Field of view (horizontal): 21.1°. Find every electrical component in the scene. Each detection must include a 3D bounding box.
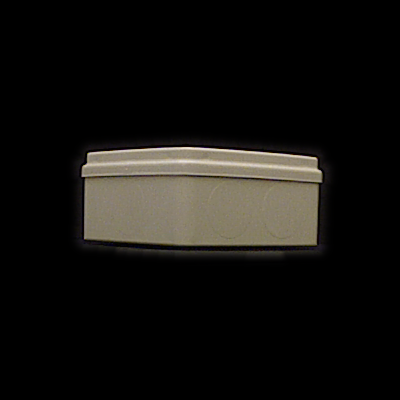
[{"bbox_3d":[0.000,0.000,0.651,0.109,0.056,0.108,2,-1,-39],"label":"electrical component"}]
